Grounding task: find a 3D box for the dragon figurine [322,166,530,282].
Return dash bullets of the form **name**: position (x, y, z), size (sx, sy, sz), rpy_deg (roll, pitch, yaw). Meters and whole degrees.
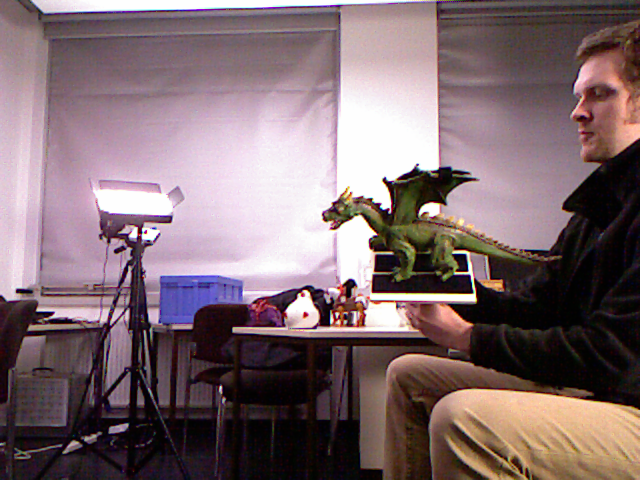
- **dragon figurine**: position (0.211, -0.037, 0.986), size (0.411, 0.125, 0.237), rpy_deg (-2, -40, 4)
